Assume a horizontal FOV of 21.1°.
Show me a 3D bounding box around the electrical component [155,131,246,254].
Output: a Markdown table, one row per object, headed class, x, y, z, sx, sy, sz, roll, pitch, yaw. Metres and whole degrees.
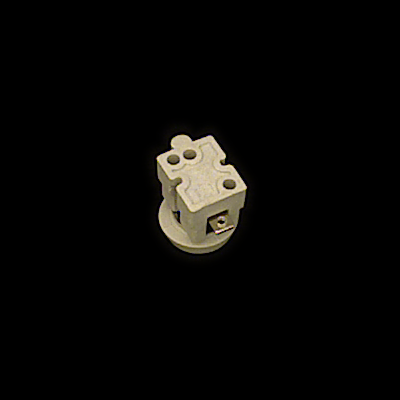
| class | x | y | z | sx | sy | sz | roll | pitch | yaw |
| --- | --- | --- | --- | --- | --- | --- | --- | --- | --- |
| electrical component | 0.000 | 0.000 | 0.638 | 0.049 | 0.066 | 0.055 | -22 | -33 | -18 |
